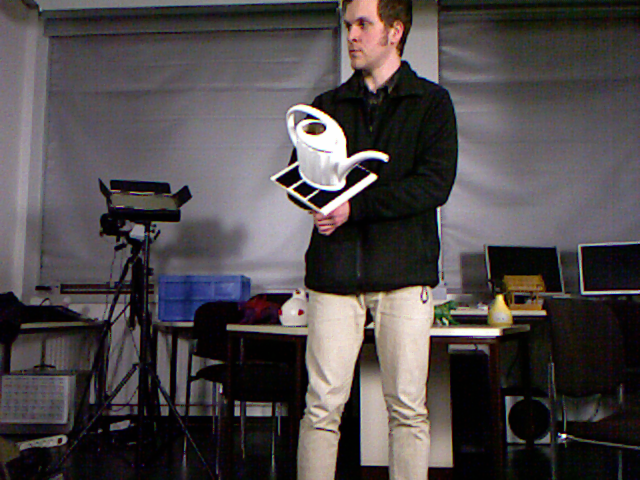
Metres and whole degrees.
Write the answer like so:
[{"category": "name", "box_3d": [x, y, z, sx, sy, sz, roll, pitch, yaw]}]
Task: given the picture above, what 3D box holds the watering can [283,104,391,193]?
[{"category": "watering can", "box_3d": [0.030, -0.209, 1.290, 0.105, 0.219, 0.352, -37, 55, -27]}]
